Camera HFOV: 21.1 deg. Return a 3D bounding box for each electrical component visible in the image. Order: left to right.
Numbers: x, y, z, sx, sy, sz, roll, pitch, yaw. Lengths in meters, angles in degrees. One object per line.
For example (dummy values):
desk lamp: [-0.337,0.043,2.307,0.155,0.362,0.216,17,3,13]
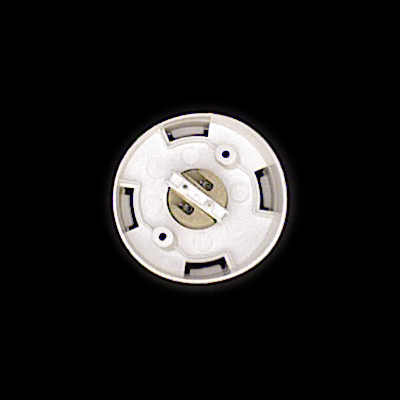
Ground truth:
electrical component: [0.000,0.000,0.624,0.099,0.099,0.064,0,-7,-1]
